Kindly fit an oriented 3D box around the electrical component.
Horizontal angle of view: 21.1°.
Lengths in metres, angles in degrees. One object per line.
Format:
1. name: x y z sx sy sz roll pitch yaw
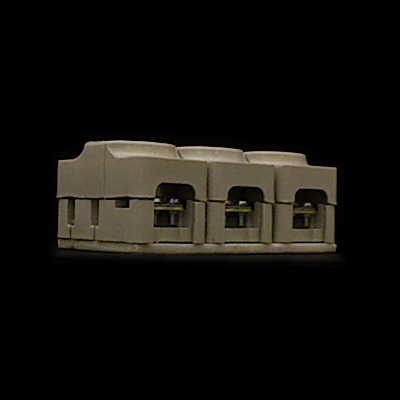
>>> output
1. electrical component: 0.000 0.000 0.658 0.151 0.062 0.089 3 -2 -38
